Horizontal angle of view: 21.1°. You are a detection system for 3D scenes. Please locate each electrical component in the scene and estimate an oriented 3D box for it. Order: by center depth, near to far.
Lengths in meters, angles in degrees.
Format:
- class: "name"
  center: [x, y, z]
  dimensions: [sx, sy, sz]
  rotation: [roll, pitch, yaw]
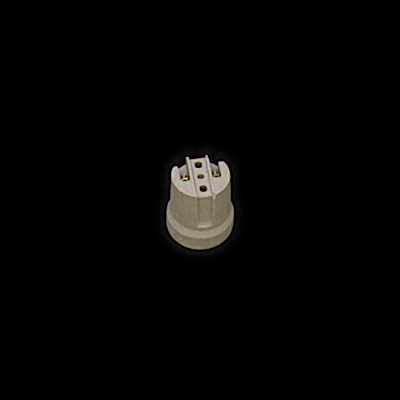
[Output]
- class: "electrical component"
  center: [0.000, 0.000, 0.635]
  dimensions: [0.040, 0.040, 0.046]
  rotation: [0, -37, -1]
